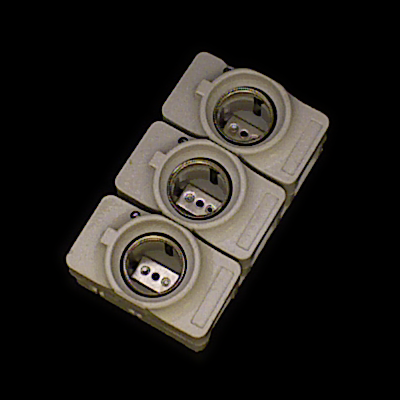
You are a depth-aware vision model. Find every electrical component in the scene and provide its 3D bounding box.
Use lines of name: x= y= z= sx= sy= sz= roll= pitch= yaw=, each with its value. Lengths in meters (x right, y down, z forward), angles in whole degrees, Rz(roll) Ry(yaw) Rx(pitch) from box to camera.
electrical component: x=0.000 y=0.000 z=0.631 sx=0.089 sy=0.150 sz=0.062 roll=29 pitch=-15 yaw=9
